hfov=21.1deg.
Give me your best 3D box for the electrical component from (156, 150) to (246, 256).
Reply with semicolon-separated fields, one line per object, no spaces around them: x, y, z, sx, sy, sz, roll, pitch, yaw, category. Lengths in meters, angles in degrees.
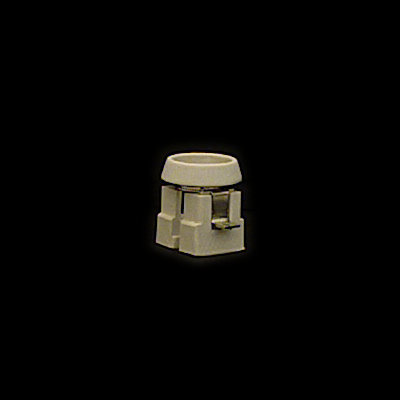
0.000;0.000;0.651;0.049;0.056;0.065;-10;16;-36;electrical component
